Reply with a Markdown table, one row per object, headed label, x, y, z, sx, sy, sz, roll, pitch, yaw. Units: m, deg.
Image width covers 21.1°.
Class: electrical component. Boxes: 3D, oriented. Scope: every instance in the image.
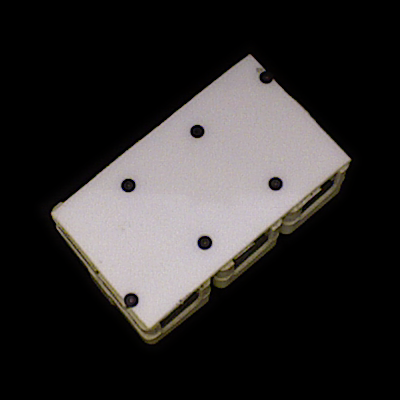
| label | x | y | z | sx | sy | sz | roll | pitch | yaw |
| --- | --- | --- | --- | --- | --- | --- | --- | --- | --- |
| electrical component | 0.000 | 0.000 | 0.629 | 0.150 | 0.089 | 0.062 | -39 | -14 | -10 |
